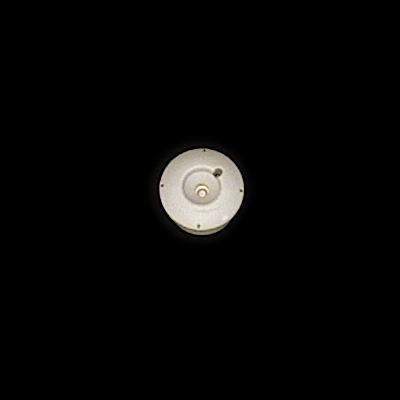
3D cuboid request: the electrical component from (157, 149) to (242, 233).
[{"bbox_3d":[0.000,0.000,0.634,0.048,0.048,0.062,0,-16,1],"label":"electrical component"}]
